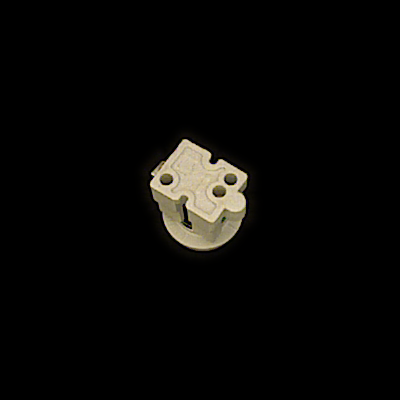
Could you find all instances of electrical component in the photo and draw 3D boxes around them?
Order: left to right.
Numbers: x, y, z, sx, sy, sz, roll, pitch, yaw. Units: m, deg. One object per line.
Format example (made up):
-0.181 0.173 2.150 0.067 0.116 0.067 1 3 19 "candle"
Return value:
0.000 0.000 0.637 0.066 0.048 0.055 31 -21 16 "electrical component"
